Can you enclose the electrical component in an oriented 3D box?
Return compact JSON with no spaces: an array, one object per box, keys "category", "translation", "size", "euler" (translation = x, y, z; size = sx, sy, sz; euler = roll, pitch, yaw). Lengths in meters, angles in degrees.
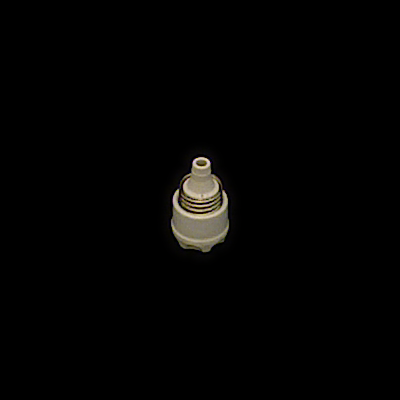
[{"category":"electrical component","translation":[0.000,0.000,0.644],"size":[0.035,0.062,0.034],"euler":[1,44,-1]}]
